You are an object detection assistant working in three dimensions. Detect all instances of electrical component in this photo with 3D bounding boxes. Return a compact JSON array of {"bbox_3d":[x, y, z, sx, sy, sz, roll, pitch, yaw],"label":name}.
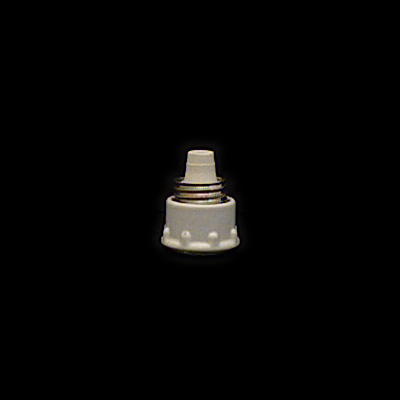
[{"bbox_3d":[0.000,0.000,0.651,0.048,0.062,0.048,1,11,0],"label":"electrical component"}]
